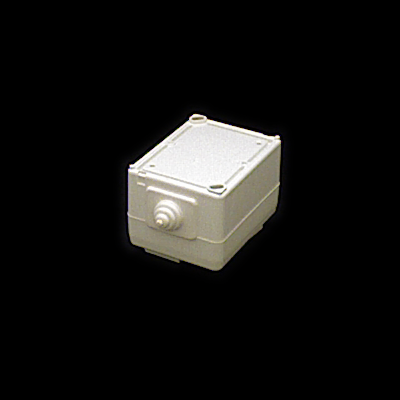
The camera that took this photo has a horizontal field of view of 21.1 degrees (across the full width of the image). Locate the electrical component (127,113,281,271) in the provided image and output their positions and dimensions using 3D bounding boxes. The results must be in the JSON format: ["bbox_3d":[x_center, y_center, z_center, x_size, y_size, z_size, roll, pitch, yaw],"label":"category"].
[{"bbox_3d":[0.000,0.000,0.627,0.061,0.061,0.096,17,34,23],"label":"electrical component"}]
